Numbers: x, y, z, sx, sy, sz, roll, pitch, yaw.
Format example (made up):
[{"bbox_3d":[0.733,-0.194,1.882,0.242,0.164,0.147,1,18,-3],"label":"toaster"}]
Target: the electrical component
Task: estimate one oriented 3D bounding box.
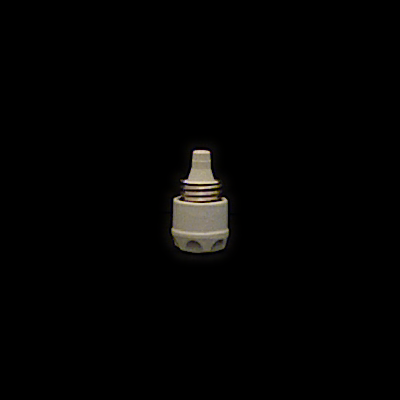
[{"bbox_3d":[0.000,0.000,0.656,0.035,0.062,0.035,2,11,0],"label":"electrical component"}]
